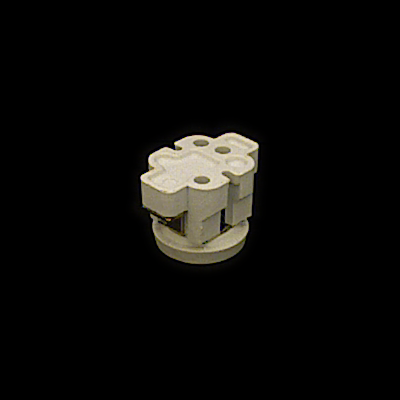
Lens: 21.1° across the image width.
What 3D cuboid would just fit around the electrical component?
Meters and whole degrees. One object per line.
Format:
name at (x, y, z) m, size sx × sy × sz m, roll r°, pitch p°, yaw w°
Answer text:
electrical component at (0.000, 0.000, 0.640) m, size 0.057 × 0.057 × 0.079 m, roll 28°, pitch 42°, yaw 34°
